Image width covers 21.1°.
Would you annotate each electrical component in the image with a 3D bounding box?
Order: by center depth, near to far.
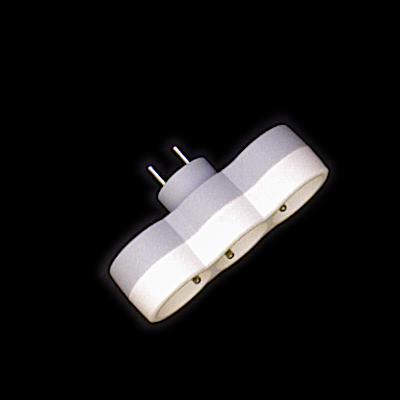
[{"bbox_3d":[0.000,0.000,0.629,0.139,0.074,0.052,-39,-15,-10],"label":"electrical component"}]
